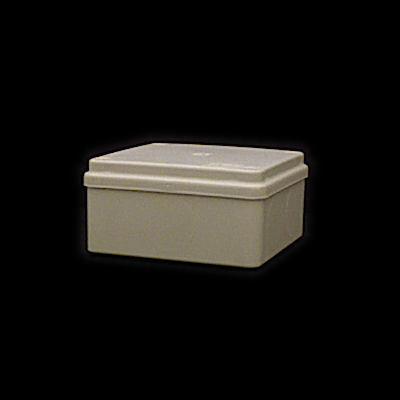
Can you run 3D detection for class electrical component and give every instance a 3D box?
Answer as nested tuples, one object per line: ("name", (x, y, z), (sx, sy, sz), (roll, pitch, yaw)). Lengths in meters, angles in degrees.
("electrical component", (0.000, 0.000, 0.646), (0.108, 0.056, 0.108), (5, 10, 19))
